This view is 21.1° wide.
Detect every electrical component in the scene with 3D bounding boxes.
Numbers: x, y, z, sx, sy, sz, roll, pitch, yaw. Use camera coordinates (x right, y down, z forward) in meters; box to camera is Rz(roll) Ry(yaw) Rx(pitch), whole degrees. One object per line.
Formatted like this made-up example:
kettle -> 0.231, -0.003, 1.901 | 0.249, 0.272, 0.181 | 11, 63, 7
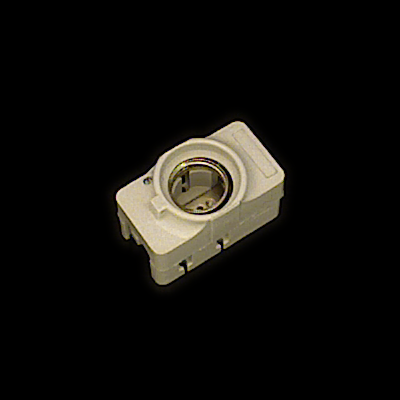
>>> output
electrical component -> 0.000, 0.000, 0.636 | 0.090, 0.050, 0.055 | -32, -23, -15
